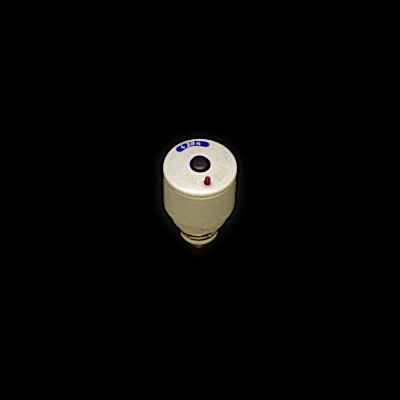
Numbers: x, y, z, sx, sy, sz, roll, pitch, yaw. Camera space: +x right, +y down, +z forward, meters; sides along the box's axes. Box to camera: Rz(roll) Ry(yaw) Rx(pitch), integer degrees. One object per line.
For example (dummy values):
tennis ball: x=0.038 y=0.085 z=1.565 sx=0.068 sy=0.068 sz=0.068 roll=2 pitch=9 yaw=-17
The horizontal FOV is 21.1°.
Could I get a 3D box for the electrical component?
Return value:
electrical component: x=0.000 y=0.000 z=0.618 sx=0.040 sy=0.040 sz=0.078 roll=0 pitch=-37 yaw=-1
